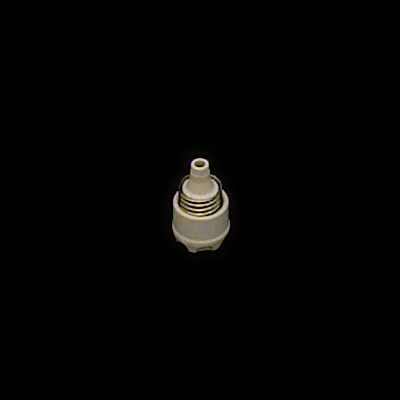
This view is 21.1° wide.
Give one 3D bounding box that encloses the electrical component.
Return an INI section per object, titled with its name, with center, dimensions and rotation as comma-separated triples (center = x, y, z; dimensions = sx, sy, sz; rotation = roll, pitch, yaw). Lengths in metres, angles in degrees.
[electrical component]
center = 0.000, 0.000, 0.643
dimensions = 0.035, 0.062, 0.035
rotation = -1, 44, 1
